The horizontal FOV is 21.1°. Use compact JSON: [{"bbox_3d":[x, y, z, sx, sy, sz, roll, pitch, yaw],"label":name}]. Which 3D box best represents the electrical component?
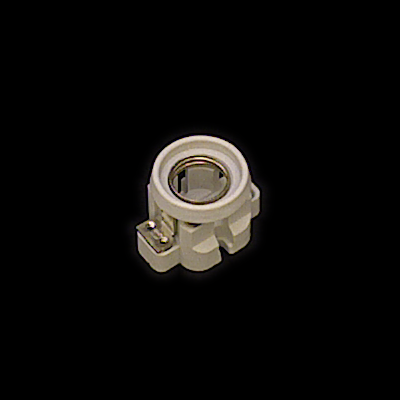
[{"bbox_3d":[0.000,0.000,0.628,0.079,0.057,0.057,-31,-31,-22],"label":"electrical component"}]
